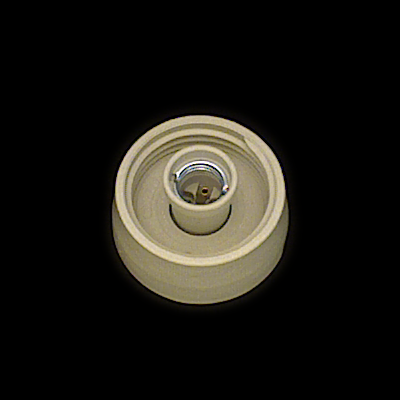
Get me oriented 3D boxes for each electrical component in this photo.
[{"bbox_3d":[0.000,0.000,0.634,0.108,0.108,0.060,0,-27,0],"label":"electrical component"}]
